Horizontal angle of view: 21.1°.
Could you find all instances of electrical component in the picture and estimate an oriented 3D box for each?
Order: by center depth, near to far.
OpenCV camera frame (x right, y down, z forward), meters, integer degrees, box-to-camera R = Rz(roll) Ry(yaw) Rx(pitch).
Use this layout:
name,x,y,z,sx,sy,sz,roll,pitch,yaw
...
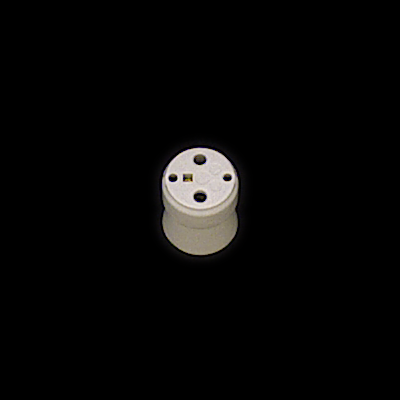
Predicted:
name,x,y,z,sx,sy,sz,roll,pitch,yaw
electrical component,0.000,0.000,0.629,0.045,0.045,0.055,0,-27,-1
